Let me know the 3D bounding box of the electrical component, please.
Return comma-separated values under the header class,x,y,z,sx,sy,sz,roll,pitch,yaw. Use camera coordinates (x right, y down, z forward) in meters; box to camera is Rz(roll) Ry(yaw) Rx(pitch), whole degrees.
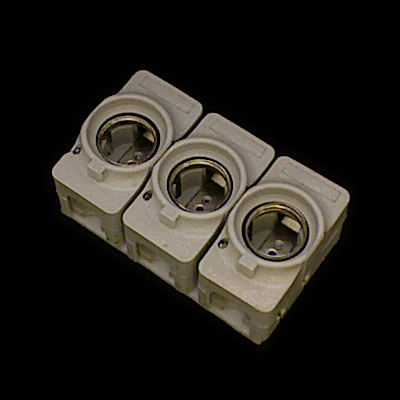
class,x,y,z,sx,sy,sz,roll,pitch,yaw
electrical component,0.000,0.000,0.631,0.149,0.089,0.062,32,-22,16
